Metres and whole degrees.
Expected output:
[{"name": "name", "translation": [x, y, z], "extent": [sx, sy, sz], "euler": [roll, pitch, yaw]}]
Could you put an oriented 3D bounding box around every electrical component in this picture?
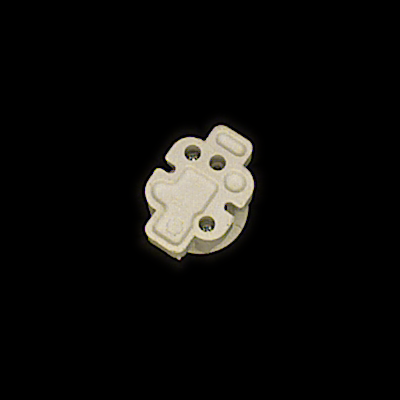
[{"name": "electrical component", "translation": [0.000, 0.000, 0.635], "extent": [0.058, 0.079, 0.056], "euler": [32, -12, 8]}]
